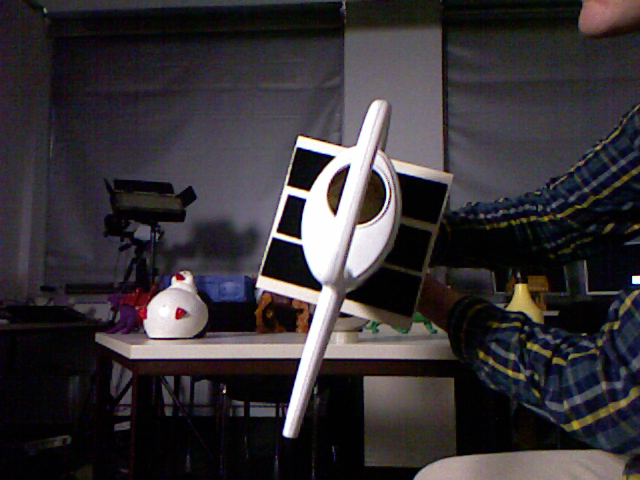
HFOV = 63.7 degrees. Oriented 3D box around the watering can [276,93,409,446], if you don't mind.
[{"bbox_3d":[0.028,0.020,0.561,0.105,0.352,0.226,16,-2,11],"label":"watering can"}]
